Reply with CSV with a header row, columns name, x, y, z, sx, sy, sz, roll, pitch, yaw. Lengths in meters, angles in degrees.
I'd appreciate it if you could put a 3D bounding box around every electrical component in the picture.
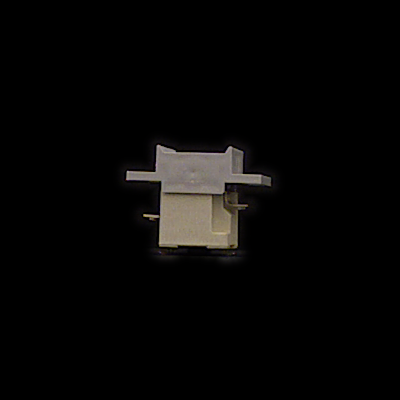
name,x,y,z,sx,sy,sz,roll,pitch,yaw
electrical component,0.000,0.000,0.649,0.081,0.064,0.042,2,2,11
